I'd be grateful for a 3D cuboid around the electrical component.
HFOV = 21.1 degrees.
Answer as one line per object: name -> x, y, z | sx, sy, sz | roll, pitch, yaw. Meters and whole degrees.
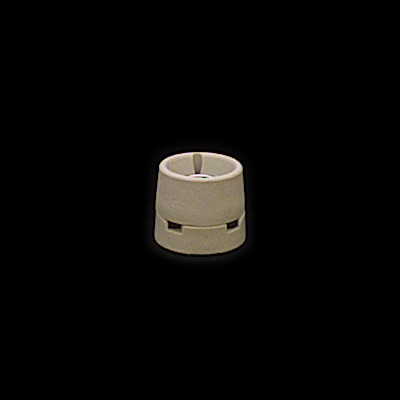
electrical component -> 0.000, 0.000, 0.640 | 0.055, 0.047, 0.055 | 1, 22, 0
